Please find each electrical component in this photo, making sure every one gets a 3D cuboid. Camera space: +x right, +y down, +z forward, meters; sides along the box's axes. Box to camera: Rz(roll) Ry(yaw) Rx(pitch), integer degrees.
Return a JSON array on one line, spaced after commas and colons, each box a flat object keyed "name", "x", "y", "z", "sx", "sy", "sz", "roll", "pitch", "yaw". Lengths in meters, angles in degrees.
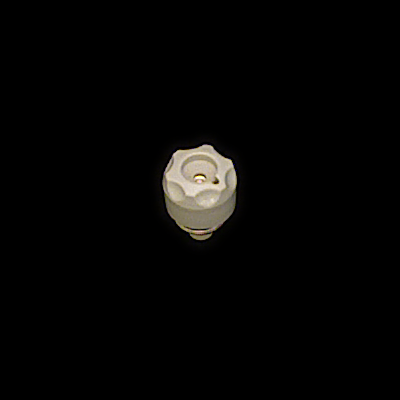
[{"name": "electrical component", "x": 0.000, "y": 0.000, "z": 0.635, "sx": 0.043, "sy": 0.043, "sz": 0.062, "roll": 0, "pitch": -37, "yaw": 1}]
